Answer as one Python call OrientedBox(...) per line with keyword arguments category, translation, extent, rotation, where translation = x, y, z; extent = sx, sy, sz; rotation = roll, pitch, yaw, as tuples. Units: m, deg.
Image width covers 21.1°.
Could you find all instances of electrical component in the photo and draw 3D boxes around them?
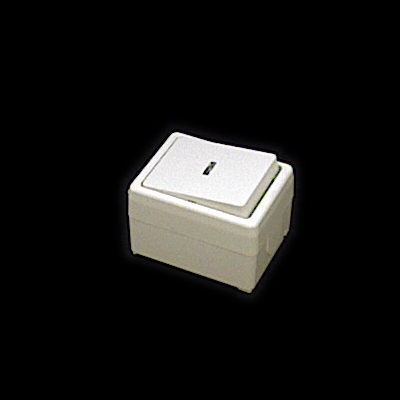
OrientedBox(category="electrical component", translation=(0.000, 0.000, 0.631), extent=(0.096, 0.061, 0.061), rotation=(17, 44, 18))
